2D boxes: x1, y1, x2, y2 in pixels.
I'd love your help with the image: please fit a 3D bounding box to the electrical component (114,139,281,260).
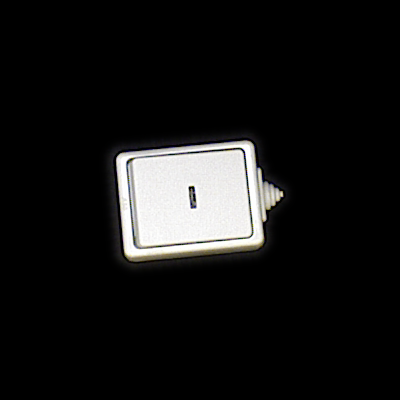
[{"bbox_3d":[0.000,0.000,0.627,0.096,0.062,0.061,-6,-7,0],"label":"electrical component"}]
